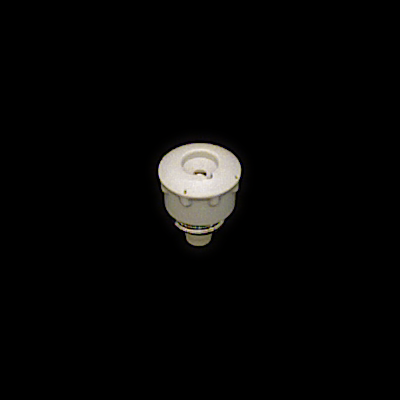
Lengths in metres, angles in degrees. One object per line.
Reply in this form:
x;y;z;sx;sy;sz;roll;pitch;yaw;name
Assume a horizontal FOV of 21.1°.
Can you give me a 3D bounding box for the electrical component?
0.000;0.000;0.638;0.048;0.062;0.047;1;43;0;electrical component
